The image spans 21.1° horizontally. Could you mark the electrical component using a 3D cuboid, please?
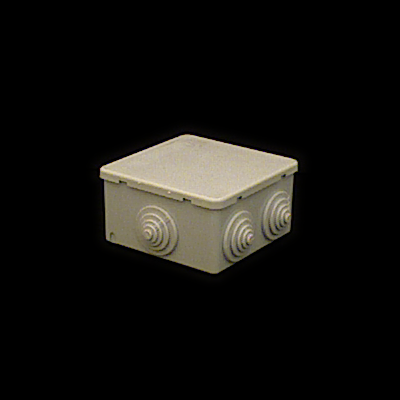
[{"bbox_3d":[0.000,0.000,0.649,0.098,0.049,0.100,16,26,32],"label":"electrical component"}]
